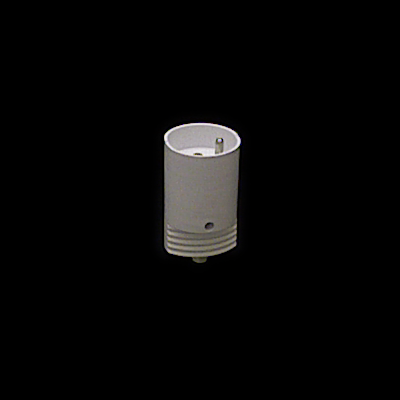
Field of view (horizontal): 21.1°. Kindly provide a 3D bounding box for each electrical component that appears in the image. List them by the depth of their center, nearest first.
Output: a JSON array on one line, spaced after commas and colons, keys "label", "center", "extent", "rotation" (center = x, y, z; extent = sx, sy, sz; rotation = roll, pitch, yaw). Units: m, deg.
[{"label": "electrical component", "center": [0.000, 0.000, 0.630], "extent": [0.043, 0.082, 0.042], "rotation": [1, 32, -1]}]
